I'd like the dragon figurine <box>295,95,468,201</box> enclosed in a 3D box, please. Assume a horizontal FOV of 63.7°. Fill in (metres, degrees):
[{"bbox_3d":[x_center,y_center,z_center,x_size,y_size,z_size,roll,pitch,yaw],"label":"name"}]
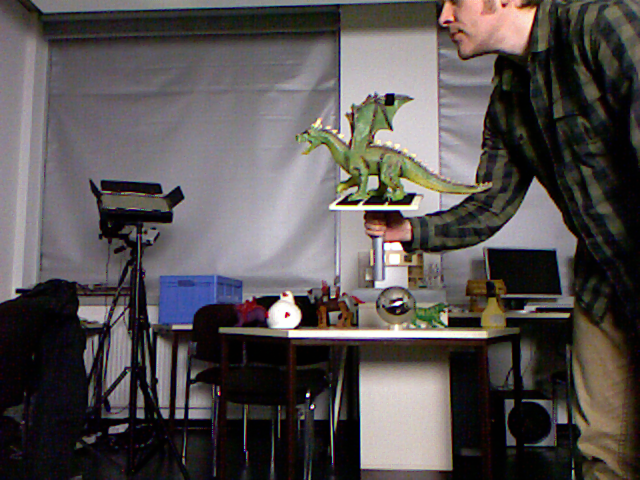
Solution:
[{"bbox_3d":[0.147,-0.224,1.240,0.410,0.240,0.123,0,13,7],"label":"dragon figurine"}]
